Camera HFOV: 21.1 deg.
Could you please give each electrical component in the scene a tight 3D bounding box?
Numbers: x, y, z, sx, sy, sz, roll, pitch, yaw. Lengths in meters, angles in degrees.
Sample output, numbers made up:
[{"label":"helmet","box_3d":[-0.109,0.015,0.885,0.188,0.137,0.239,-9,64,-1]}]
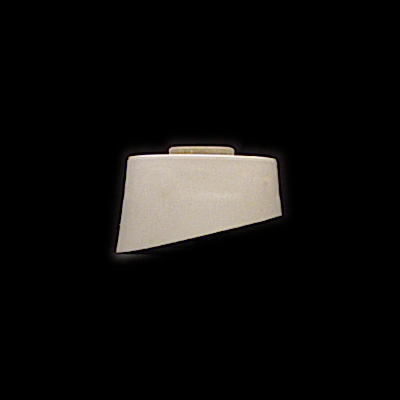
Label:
[{"label":"electrical component","box_3d":[0.000,0.000,0.650,0.099,0.064,0.099,1,0,0]}]
